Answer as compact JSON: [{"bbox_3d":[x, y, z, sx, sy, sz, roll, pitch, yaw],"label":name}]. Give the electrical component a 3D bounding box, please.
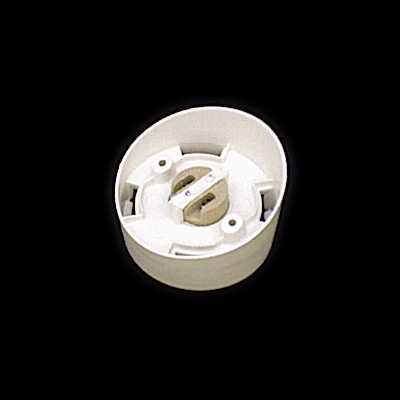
[{"bbox_3d":[0.000,0.000,0.626,0.099,0.098,0.064,0,-38,-1],"label":"electrical component"}]
